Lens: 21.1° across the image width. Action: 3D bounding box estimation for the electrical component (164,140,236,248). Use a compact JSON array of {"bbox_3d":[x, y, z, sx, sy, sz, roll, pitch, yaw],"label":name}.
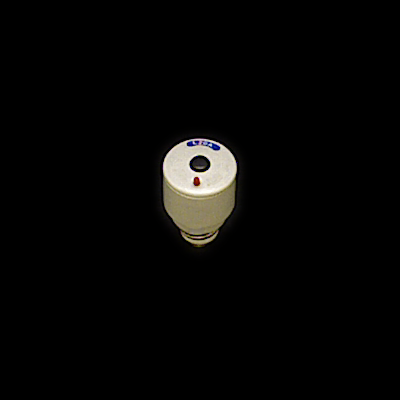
[{"bbox_3d":[0.000,0.000,0.619,0.040,0.040,0.078,0,-37,-1],"label":"electrical component"}]
